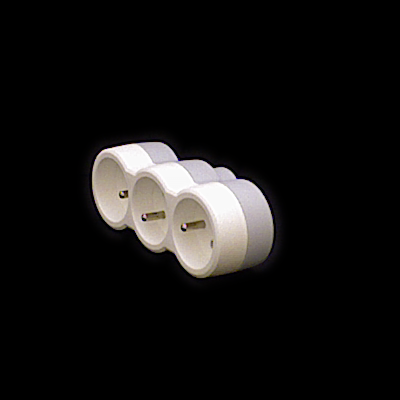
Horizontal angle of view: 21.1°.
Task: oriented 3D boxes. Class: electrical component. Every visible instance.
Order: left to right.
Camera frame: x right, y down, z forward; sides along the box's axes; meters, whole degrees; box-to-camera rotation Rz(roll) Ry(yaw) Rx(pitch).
[{"bbox_3d":[0.000,0.000,0.643,0.074,0.053,0.136,-11,23,-34],"label":"electrical component"}]
